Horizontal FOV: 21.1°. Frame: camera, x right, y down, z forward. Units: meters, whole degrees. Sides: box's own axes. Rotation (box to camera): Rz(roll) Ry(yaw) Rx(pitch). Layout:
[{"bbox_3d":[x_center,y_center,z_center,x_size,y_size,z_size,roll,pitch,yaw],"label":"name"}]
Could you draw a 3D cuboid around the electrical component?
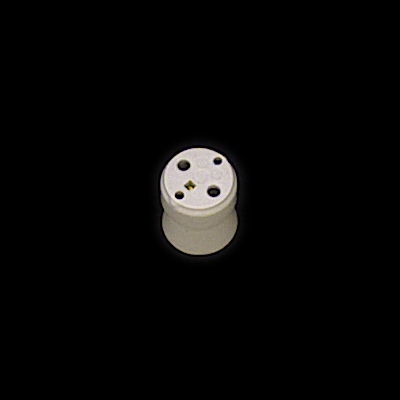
[{"bbox_3d":[0.000,0.000,0.629,0.045,0.045,0.055,0,-27,0],"label":"electrical component"}]
